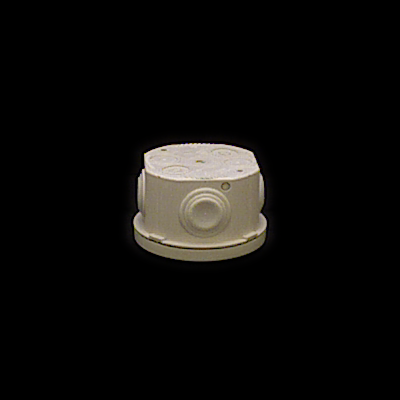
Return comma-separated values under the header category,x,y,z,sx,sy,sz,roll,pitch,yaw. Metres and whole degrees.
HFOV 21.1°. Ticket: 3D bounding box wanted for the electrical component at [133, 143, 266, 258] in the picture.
category,x,y,z,sx,sy,sz,roll,pitch,yaw
electrical component,0.000,0.000,0.641,0.080,0.051,0.079,1,20,0
